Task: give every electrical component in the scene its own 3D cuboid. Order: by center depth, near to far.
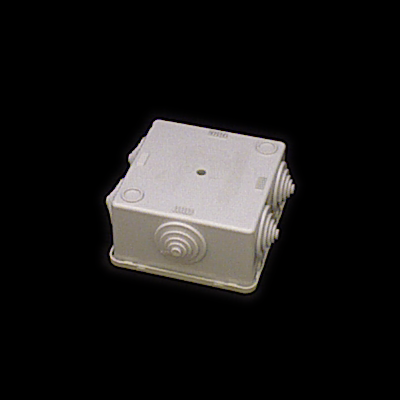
[{"bbox_3d":[0.000,0.000,0.635,0.099,0.049,0.099,12,43,11],"label":"electrical component"}]
